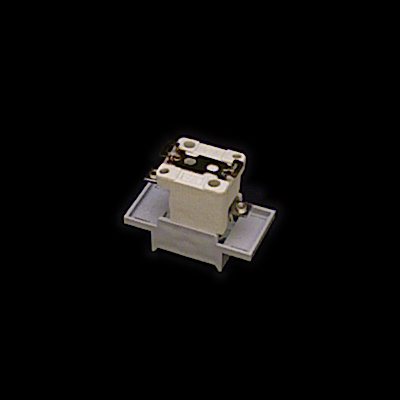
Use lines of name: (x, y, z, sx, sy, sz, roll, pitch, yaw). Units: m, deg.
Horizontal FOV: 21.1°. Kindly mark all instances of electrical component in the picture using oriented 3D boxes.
electrical component: (0.000, 0.000, 0.630, 0.080, 0.064, 0.042, 15, 44, 16)
